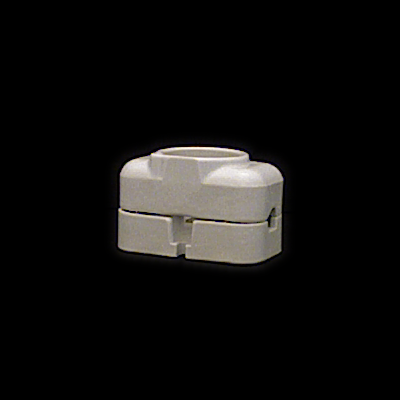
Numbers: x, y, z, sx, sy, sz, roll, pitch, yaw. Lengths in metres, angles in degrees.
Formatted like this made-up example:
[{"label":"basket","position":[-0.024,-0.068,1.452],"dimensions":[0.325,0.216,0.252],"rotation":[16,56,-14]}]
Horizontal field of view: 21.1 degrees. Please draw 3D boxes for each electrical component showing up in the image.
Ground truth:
[{"label":"electrical component","position":[0.000,0.000,0.649],"dimensions":[0.094,0.060,0.054],"rotation":[6,12,23]}]
